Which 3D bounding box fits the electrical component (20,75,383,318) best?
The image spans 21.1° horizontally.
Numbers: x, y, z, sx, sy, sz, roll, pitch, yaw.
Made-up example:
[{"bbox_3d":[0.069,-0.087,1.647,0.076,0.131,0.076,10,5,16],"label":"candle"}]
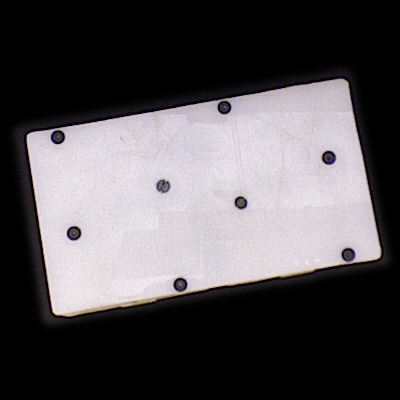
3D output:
[{"bbox_3d":[0.000,0.000,0.626,0.186,0.106,0.060,-10,-7,-1],"label":"electrical component"}]
